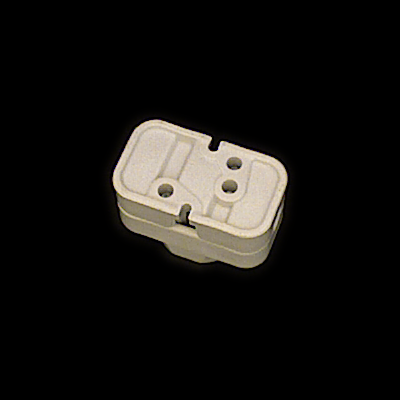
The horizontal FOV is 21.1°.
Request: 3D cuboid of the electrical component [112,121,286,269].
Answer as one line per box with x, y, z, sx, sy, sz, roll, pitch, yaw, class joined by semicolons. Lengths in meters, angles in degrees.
0.000;0.000;0.636;0.095;0.054;0.059;18;-25;10;electrical component
